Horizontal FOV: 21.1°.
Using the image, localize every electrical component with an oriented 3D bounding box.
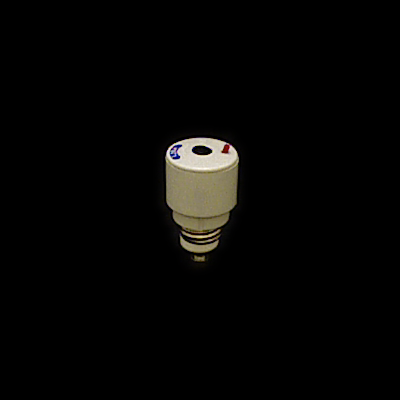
[{"bbox_3d":[0.000,0.000,0.629,0.040,0.079,0.039,1,31,-1],"label":"electrical component"}]
